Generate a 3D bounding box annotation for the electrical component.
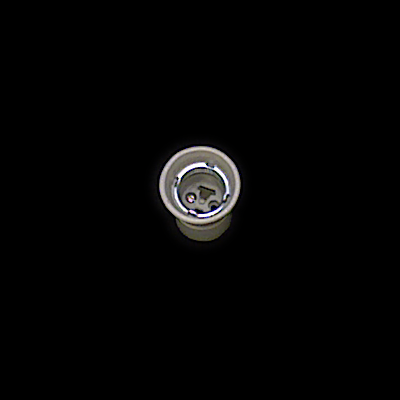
[{"bbox_3d":[0.000,0.000,0.624,0.044,0.044,0.065,0,-17,2],"label":"electrical component"}]
